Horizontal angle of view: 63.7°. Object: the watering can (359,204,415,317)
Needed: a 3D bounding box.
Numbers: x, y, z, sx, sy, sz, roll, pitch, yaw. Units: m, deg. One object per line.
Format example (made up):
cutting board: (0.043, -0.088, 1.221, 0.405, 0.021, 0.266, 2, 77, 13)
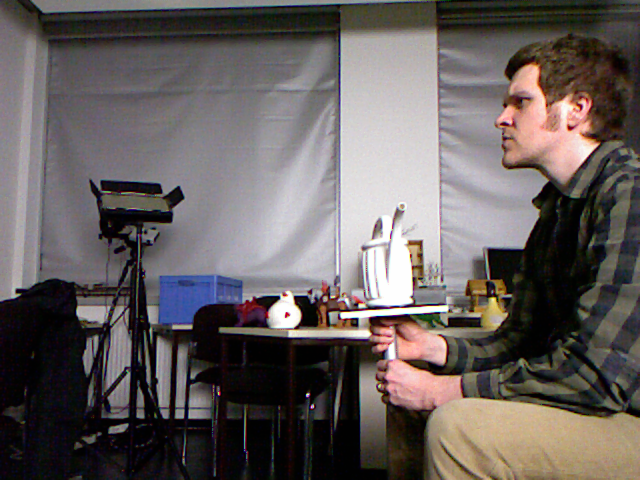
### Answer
watering can: (0.139, 0.044, 1.045, 0.104, 0.226, 0.346, -5, -6, -3)
